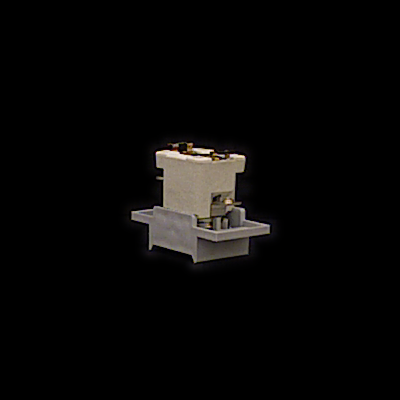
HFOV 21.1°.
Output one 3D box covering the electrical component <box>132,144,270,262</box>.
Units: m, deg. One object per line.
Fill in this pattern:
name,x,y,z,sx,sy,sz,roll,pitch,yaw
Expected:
electrical component,0.000,0.000,0.644,0.042,0.064,0.080,-8,14,-40
